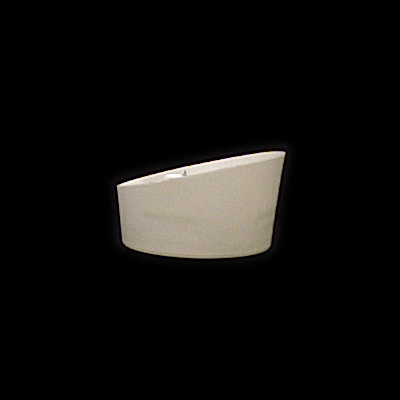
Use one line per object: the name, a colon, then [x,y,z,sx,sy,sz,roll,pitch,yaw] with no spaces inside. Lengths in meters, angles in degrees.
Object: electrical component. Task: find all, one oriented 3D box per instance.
electrical component: [0.000,0.000,0.644,0.099,0.064,0.098,2,10,0]
